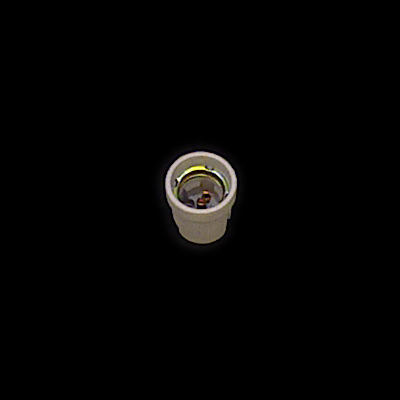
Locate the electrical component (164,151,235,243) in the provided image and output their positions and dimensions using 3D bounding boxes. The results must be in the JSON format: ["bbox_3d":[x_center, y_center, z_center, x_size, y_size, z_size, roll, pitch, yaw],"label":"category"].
[{"bbox_3d":[0.000,0.000,0.628,0.040,0.040,0.046,0,-28,0],"label":"electrical component"}]
